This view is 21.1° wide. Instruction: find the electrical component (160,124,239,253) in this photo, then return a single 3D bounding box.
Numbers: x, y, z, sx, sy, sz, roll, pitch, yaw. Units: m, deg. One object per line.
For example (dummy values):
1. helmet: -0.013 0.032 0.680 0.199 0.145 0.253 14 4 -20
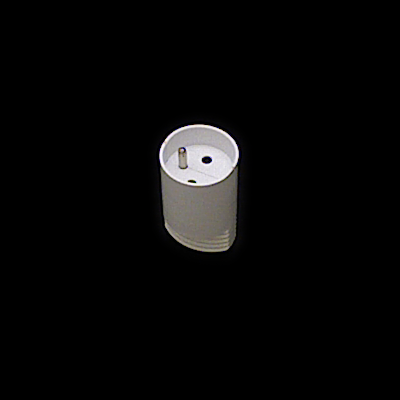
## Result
1. electrical component: 0.000 0.000 0.618 0.043 0.043 0.081 0 -39 0
